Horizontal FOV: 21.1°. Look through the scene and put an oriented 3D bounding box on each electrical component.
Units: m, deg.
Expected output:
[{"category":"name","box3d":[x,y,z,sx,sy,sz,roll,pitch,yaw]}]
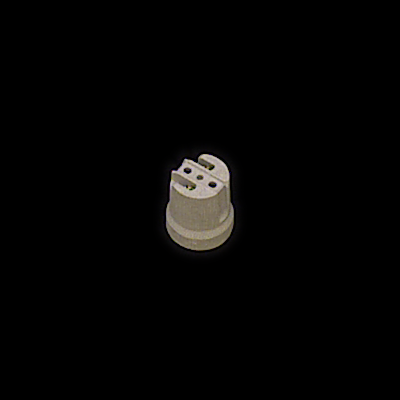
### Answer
[{"category":"electrical component","box3d":[0.000,0.000,0.635,0.040,0.040,0.046,0,-37,-1]}]
